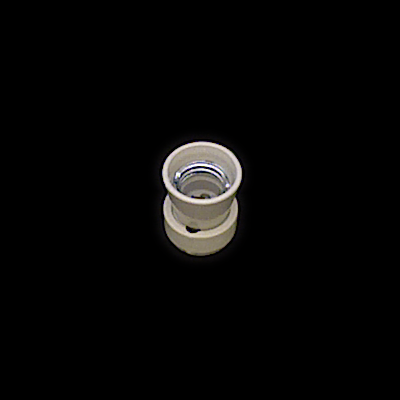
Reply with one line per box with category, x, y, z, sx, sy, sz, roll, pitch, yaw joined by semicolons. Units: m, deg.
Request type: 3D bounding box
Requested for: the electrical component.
electrical component;0.000;0.000;0.630;0.045;0.044;0.055;0;-37;-1
